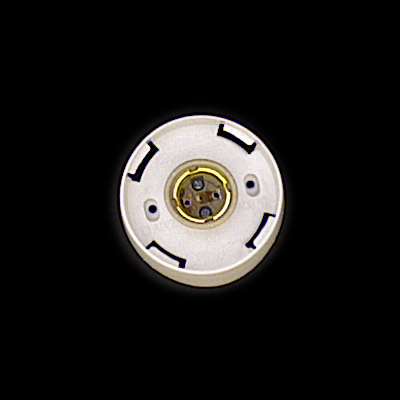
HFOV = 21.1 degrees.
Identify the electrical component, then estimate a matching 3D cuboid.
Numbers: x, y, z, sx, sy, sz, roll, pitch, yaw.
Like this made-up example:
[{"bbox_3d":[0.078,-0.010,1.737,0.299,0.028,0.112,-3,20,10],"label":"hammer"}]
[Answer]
[{"bbox_3d":[0.000,0.000,0.625,0.099,0.099,0.064,0,-6,0],"label":"electrical component"}]
